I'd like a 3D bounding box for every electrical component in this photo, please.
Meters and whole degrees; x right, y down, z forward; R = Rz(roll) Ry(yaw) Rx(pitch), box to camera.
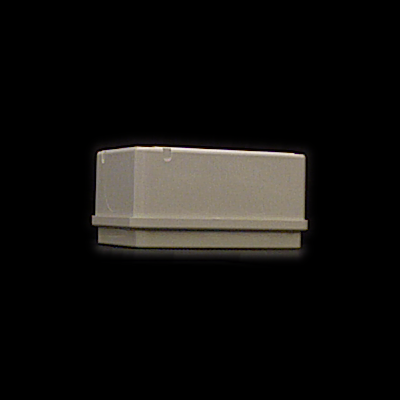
[{"bbox_3d":[0.000,0.000,0.650,0.113,0.057,0.078,2,0,-25],"label":"electrical component"}]
